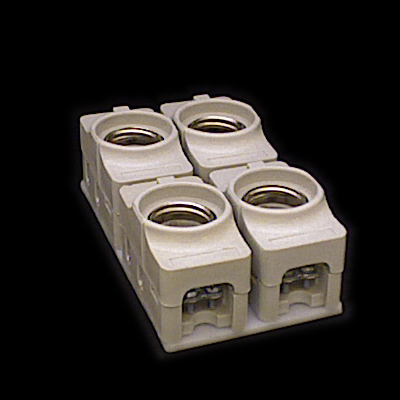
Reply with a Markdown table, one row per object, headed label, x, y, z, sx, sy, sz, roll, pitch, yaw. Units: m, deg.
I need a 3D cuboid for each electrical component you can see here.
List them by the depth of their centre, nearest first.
| label | x | y | z | sx | sy | sz | roll | pitch | yaw |
| --- | --- | --- | --- | --- | --- | --- | --- | --- | --- |
| electrical component | 0.000 | 0.000 | 0.633 | 0.106 | 0.061 | 0.183 | -10 | 33 | -17 |
